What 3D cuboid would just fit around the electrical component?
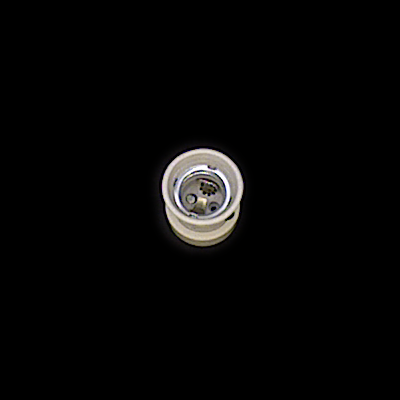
[{"bbox_3d":[0.000,0.000,0.628,0.045,0.045,0.055,0,-17,0],"label":"electrical component"}]
